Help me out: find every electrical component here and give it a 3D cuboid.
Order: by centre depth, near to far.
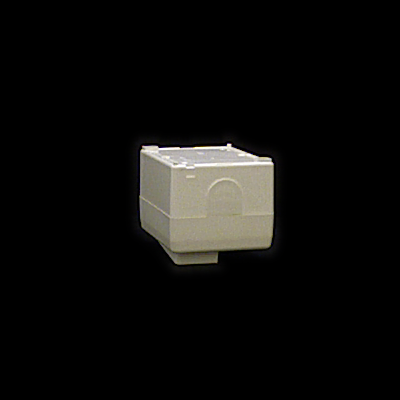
[{"bbox_3d":[0.000,0.000,0.651,0.062,0.061,0.095,-3,11,-17],"label":"electrical component"}]
